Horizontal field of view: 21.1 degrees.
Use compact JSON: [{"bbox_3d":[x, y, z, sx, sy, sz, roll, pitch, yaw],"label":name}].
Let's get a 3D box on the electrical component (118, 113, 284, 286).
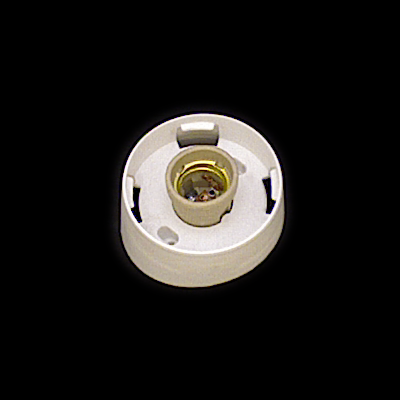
[{"bbox_3d":[0.000,0.000,0.625,0.099,0.099,0.064,0,-27,0],"label":"electrical component"}]
